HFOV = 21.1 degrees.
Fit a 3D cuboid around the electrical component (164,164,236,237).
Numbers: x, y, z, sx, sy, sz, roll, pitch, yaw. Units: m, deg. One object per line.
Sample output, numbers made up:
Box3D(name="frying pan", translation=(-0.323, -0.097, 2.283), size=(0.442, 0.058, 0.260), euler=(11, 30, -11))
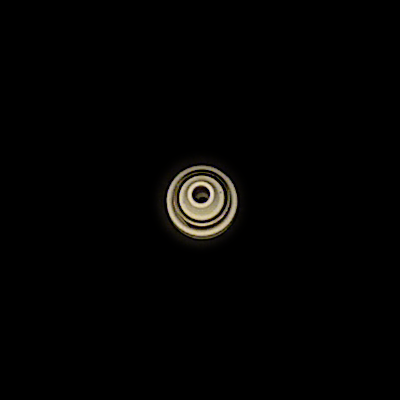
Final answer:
Box3D(name="electrical component", translation=(0.000, 0.000, 0.635), size=(0.043, 0.043, 0.062), euler=(0, -6, 1))
